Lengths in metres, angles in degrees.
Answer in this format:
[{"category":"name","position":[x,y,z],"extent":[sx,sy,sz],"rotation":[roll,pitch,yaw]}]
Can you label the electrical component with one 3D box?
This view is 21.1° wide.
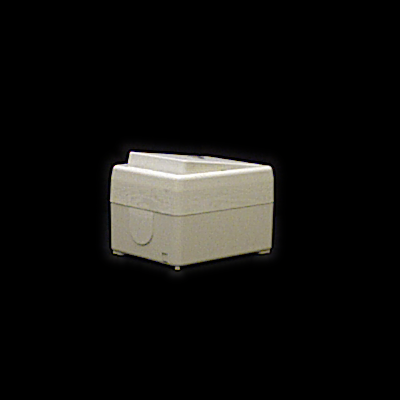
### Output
[{"category":"electrical component","position":[0.000,0.000,0.646],"extent":[0.096,0.061,0.061],"rotation":[-8,14,-43]}]
